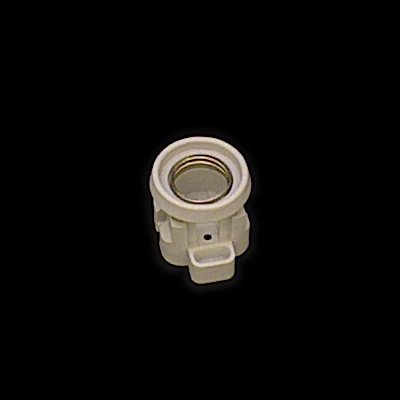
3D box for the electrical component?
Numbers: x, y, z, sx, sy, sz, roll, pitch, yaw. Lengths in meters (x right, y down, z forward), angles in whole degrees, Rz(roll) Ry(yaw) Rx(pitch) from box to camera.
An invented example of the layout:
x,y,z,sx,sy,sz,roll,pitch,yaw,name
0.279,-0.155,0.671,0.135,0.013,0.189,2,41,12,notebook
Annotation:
x,y,z,sx,sy,sz,roll,pitch,yaw,name
0.000,0.000,0.630,0.058,0.078,0.057,-10,-37,-8,electrical component
